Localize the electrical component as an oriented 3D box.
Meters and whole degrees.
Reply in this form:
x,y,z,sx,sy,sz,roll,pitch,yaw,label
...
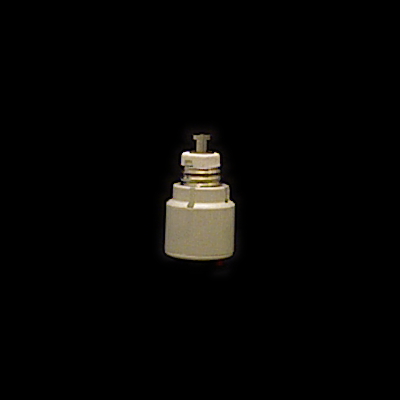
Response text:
x,y,z,sx,sy,sz,roll,pitch,yaw,label
0.000,0.000,0.641,0.040,0.079,0.040,1,10,0,electrical component
